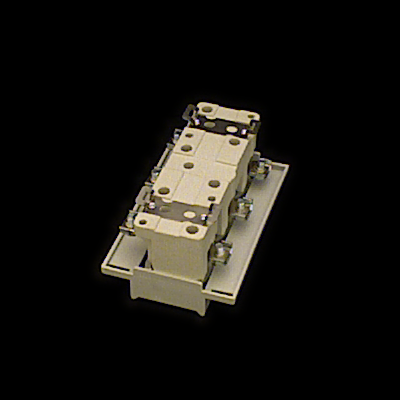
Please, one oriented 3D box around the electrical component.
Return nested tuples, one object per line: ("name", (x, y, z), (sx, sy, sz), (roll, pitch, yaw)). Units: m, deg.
("electrical component", (0.000, 0.000, 0.638), (0.078, 0.063, 0.120), (13, 44, 12))
